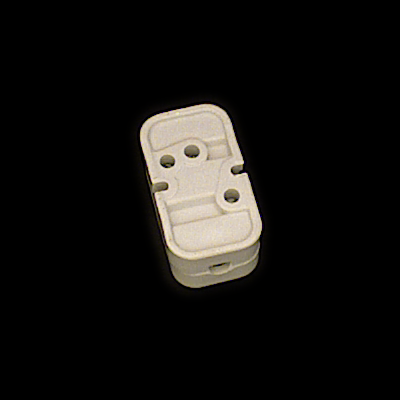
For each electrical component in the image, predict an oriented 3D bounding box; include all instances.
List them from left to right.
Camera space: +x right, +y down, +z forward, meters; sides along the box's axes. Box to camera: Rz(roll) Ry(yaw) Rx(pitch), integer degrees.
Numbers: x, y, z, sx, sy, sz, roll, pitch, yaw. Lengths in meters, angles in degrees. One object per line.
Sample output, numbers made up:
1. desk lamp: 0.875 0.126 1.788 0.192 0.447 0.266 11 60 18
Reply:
1. electrical component: 0.000 0.000 0.634 0.054 0.095 0.059 -13 -25 -6
